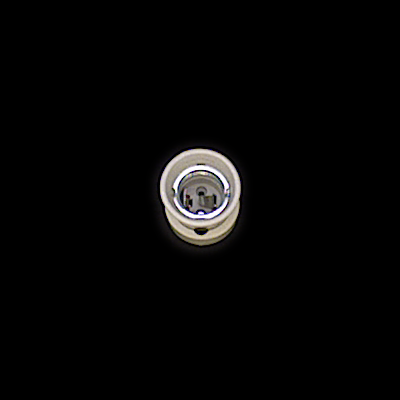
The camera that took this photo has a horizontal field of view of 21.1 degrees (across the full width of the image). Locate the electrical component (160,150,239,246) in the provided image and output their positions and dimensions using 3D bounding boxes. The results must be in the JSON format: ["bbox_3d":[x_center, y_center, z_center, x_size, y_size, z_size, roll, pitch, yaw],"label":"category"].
[{"bbox_3d":[0.000,0.000,0.627,0.045,0.045,0.055,0,-17,1],"label":"electrical component"}]
